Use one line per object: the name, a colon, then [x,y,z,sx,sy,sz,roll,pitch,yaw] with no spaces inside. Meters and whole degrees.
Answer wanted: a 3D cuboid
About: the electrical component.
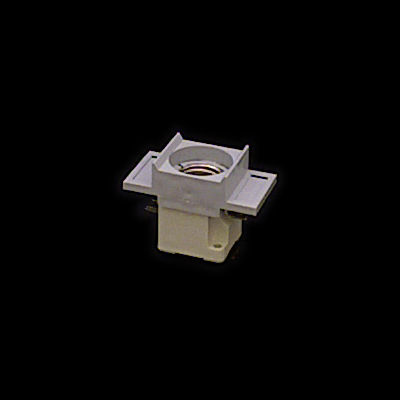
electrical component: [0.000,0.000,0.633,0.080,0.064,0.042,12,34,16]
